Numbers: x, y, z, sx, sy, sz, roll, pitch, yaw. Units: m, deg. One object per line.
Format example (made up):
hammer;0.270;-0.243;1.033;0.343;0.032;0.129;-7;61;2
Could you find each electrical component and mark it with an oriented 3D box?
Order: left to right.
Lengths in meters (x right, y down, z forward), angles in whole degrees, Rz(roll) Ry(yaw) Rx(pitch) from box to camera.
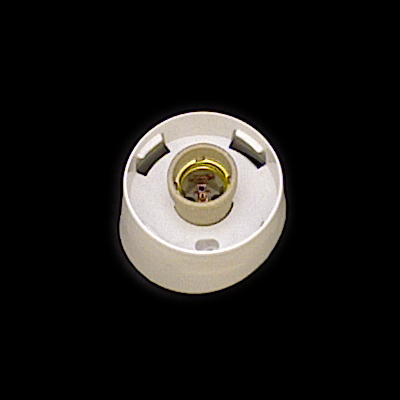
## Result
electrical component;0.000;0.000;0.625;0.099;0.099;0.064;0;-27;0
